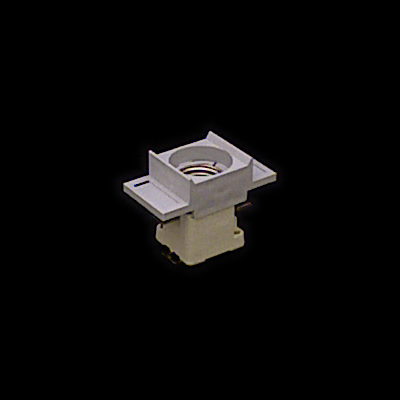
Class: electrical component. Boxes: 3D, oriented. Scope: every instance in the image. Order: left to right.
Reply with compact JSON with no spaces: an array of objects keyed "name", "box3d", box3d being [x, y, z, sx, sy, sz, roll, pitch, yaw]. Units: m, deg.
[{"name":"electrical component","box3d":[0.000,0.000,0.635,0.080,0.064,0.041,-20,36,-29]}]
